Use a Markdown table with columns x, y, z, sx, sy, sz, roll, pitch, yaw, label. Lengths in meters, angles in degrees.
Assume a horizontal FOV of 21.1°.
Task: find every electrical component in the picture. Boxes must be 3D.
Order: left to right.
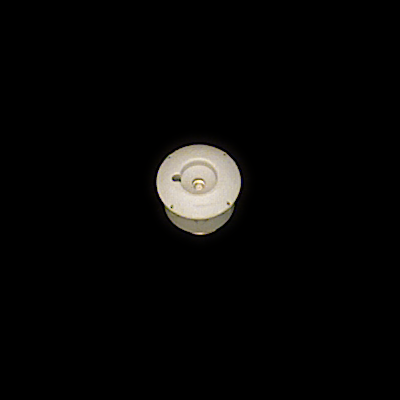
| x | y | z | sx | sy | sz | roll | pitch | yaw | label |
| --- | --- | --- | --- | --- | --- | --- | --- | --- | --- |
| 0.000 | 0.000 | 0.632 | 0.048 | 0.048 | 0.062 | 0 | -27 | 0 | electrical component |
